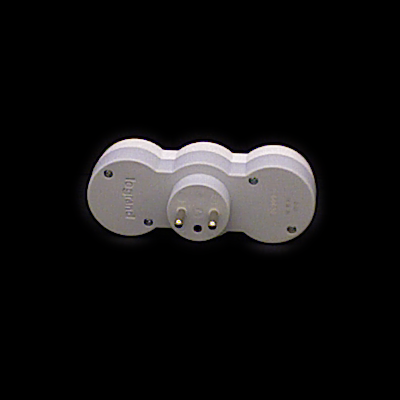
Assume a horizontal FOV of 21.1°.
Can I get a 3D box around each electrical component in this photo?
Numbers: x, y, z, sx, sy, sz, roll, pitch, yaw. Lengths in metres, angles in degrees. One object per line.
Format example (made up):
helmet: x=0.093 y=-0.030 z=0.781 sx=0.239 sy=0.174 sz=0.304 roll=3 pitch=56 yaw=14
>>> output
electrical component: x=0.000 y=0.000 z=0.641 sx=0.138 sy=0.053 sz=0.073 roll=3 pitch=23 yaw=3
